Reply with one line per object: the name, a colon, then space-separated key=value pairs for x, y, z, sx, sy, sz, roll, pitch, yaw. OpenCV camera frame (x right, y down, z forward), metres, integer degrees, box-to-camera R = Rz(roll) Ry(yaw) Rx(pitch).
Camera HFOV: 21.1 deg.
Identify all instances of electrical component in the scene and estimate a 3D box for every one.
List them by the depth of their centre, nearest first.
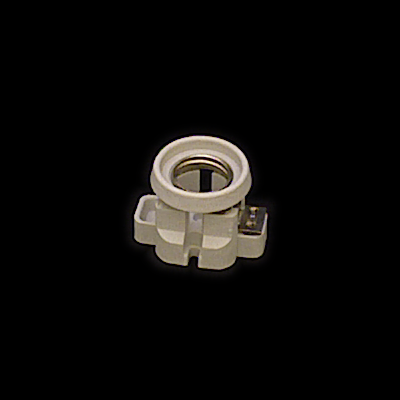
electrical component: x=0.000 y=0.000 z=0.632 sx=0.078 sy=0.057 sz=0.057 roll=8 pitch=43 yaw=7
